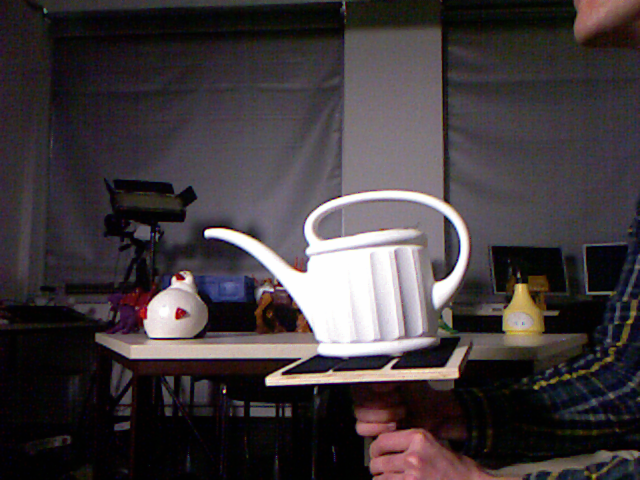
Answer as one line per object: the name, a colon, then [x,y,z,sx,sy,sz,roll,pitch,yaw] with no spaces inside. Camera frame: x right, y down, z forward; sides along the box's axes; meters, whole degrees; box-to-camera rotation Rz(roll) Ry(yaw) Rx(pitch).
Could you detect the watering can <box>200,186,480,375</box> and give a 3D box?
watering can: [0.019,0.055,0.632,0.349,0.226,0.105,-7,-1,19]
